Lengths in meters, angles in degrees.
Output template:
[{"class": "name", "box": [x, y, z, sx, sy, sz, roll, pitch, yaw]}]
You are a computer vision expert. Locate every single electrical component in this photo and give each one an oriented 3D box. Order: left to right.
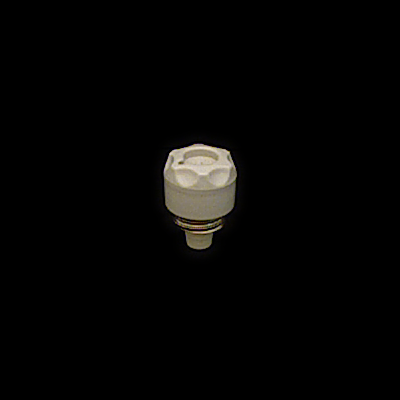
[{"class": "electrical component", "box": [0.000, 0.000, 0.642, 0.043, 0.063, 0.043, 1, 31, 0]}]
